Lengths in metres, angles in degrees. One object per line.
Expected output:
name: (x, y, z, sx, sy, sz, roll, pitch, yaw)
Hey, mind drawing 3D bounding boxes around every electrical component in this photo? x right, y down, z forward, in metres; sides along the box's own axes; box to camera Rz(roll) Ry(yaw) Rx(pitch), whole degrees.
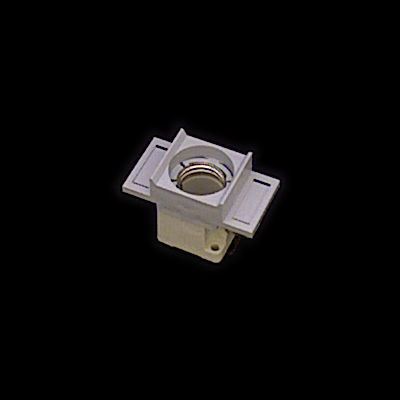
electrical component: (0.000, 0.000, 0.626, 0.081, 0.042, 0.064, 20, -36, 15)
